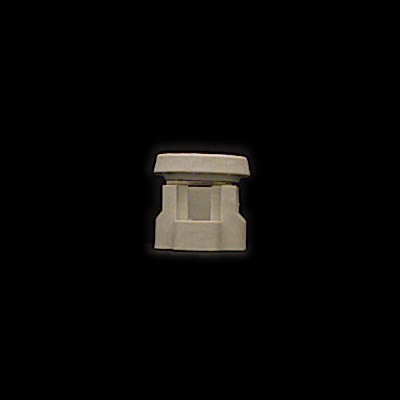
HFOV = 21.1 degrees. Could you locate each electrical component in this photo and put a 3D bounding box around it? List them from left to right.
[{"bbox_3d":[0.000,0.000,0.651,0.058,0.057,0.078,1,0,5],"label":"electrical component"}]
